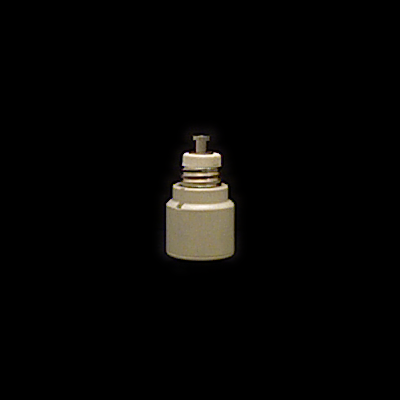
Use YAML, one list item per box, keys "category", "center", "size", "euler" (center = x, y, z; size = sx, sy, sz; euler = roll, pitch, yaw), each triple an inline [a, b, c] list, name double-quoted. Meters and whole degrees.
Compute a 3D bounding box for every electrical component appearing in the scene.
- category: "electrical component"
  center: [0.000, 0.000, 0.643]
  size: [0.040, 0.079, 0.040]
  euler: [1, 12, 0]
